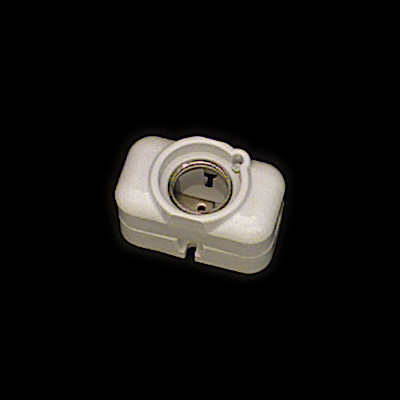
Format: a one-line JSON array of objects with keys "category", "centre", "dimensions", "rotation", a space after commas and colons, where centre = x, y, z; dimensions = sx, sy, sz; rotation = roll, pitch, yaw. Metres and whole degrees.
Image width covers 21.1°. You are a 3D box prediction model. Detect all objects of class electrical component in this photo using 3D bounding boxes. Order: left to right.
[{"category": "electrical component", "centre": [0.000, 0.000, 0.635], "dimensions": [0.095, 0.054, 0.059], "rotation": [14, -25, 6]}]
